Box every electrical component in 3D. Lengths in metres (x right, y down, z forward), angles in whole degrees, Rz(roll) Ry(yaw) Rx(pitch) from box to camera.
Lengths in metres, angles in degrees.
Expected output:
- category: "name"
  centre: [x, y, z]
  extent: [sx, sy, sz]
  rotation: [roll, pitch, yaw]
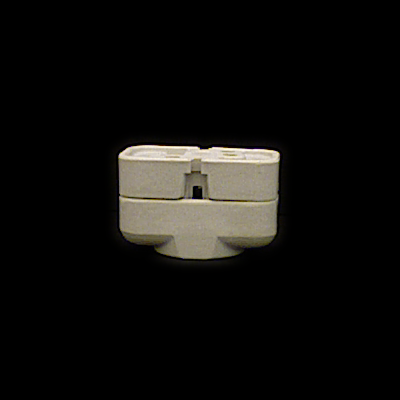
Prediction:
- category: "electrical component"
  centre: [0.000, 0.000, 0.653]
  extent: [0.095, 0.060, 0.053]
  rotation: [2, 12, 5]
